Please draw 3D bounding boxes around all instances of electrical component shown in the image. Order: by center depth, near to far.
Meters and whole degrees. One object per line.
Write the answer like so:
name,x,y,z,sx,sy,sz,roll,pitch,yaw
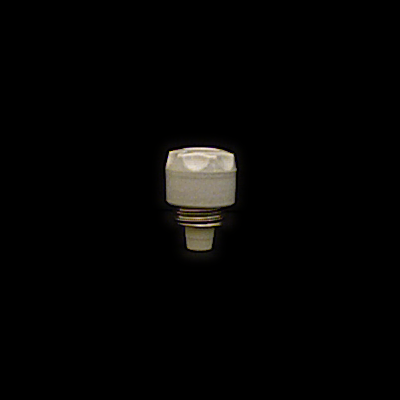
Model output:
electrical component,0.000,0.000,0.652,0.043,0.062,0.043,1,11,0
